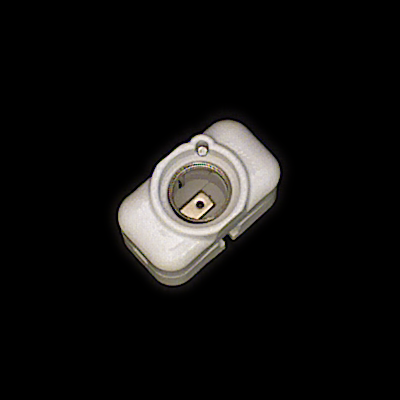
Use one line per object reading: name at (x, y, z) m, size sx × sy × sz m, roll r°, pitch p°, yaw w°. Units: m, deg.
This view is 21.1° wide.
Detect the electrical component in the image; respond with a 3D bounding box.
electrical component at (0.000, 0.000, 0.634) m, size 0.095 × 0.053 × 0.059 m, roll -42°, pitch -11°, yaw -11°
